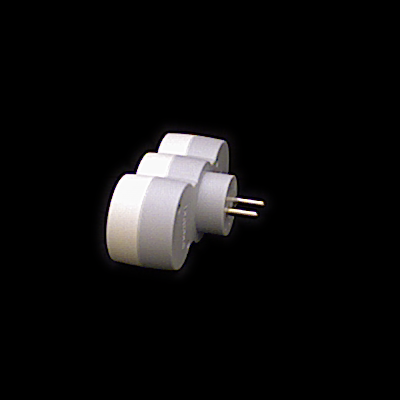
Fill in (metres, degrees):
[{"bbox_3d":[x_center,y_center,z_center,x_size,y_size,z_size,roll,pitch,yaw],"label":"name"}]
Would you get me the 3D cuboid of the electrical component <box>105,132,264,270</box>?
[{"bbox_3d":[0.000,0.000,0.644,0.073,0.053,0.137,8,21,12],"label":"electrical component"}]
